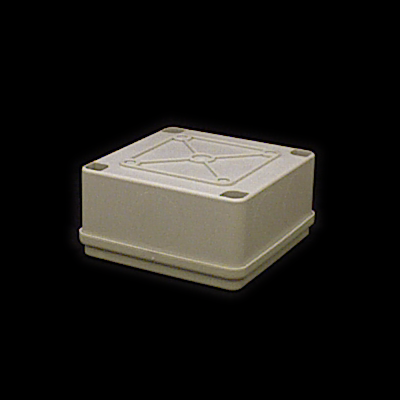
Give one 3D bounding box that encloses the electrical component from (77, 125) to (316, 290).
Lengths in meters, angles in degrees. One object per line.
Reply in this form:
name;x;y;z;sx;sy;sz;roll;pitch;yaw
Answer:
electrical component;0.000;0.000;0.641;0.108;0.057;0.108;12;23;26
